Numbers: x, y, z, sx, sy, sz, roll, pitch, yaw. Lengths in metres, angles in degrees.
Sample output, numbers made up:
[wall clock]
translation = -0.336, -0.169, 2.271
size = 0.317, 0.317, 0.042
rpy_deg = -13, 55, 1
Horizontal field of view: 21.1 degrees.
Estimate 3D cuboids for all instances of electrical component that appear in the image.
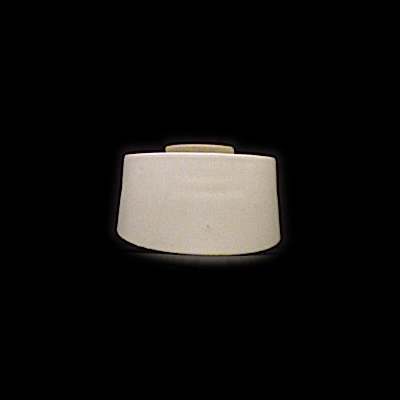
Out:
[electrical component]
translation = 0.000, 0.000, 0.650
size = 0.099, 0.064, 0.099
rpy_deg = 1, 0, 0
